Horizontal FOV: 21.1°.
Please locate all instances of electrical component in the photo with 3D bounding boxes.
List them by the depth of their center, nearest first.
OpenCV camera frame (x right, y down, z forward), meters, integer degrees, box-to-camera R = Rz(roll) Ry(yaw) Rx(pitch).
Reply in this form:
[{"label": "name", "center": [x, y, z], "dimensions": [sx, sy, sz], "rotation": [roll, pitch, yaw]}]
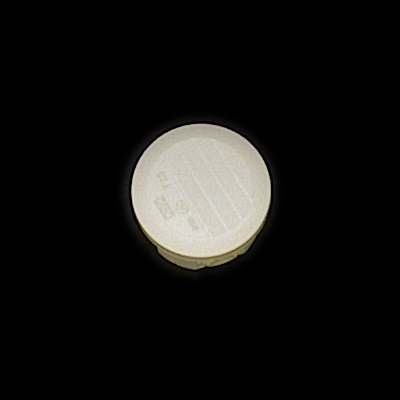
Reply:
[{"label": "electrical component", "center": [0.000, 0.000, 0.630], "dimensions": [0.080, 0.080, 0.050], "rotation": [0, -17, 0]}]
